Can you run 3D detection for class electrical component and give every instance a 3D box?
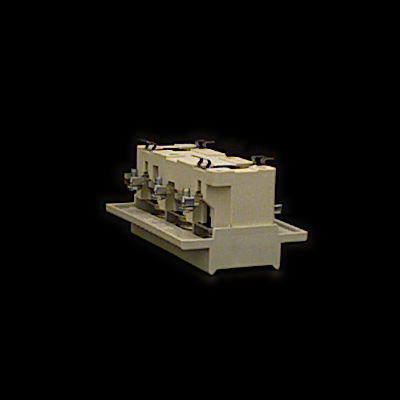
[{"bbox_3d":[0.000,0.000,0.653,0.079,0.063,0.120,-3,12,-25],"label":"electrical component"}]
